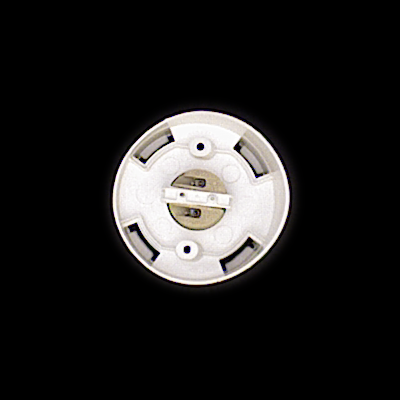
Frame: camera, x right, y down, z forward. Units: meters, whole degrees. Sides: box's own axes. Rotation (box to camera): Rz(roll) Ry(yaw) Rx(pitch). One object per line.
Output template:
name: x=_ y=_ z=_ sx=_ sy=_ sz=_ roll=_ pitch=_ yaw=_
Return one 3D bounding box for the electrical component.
electrical component: x=0.000 y=0.000 z=0.625 sx=0.099 sy=0.099 sz=0.064 roll=0 pitch=-7 yaw=-1
